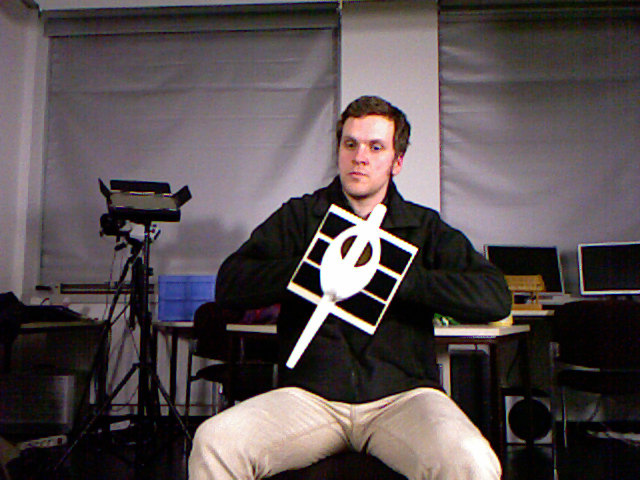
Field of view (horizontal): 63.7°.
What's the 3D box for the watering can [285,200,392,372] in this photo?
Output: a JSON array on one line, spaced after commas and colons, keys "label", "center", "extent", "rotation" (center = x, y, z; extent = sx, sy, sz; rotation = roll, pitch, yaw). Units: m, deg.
[{"label": "watering can", "center": [0.040, 0.080, 0.982], "extent": [0.105, 0.350, 0.224], "rotation": [31, -3, 9]}]
